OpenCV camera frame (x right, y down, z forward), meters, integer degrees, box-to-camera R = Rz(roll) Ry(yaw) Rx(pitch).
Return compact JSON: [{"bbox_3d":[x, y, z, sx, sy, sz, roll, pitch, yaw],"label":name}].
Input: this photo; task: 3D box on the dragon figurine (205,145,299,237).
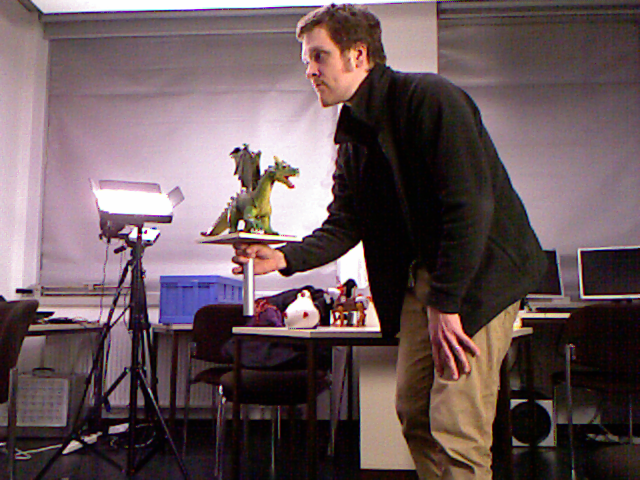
[{"bbox_3d":[-0.208,-0.131,1.387,0.409,0.244,0.122,-4,-5,44],"label":"dragon figurine"}]
